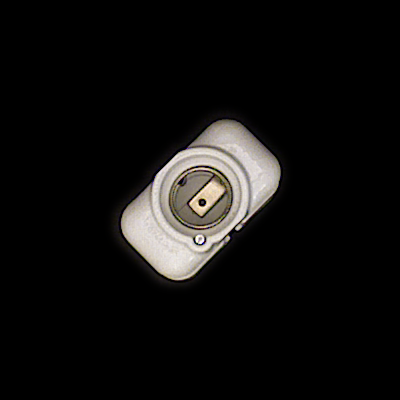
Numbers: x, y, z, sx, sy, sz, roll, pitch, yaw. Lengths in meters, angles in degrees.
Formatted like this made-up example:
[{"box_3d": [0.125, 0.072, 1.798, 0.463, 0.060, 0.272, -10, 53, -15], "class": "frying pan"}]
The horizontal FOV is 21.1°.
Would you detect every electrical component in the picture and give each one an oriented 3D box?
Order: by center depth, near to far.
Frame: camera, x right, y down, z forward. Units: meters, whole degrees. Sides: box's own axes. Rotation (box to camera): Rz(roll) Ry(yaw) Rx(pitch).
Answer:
[{"box_3d": [0.000, 0.000, 0.635, 0.054, 0.095, 0.059, 44, -3, 5], "class": "electrical component"}]
